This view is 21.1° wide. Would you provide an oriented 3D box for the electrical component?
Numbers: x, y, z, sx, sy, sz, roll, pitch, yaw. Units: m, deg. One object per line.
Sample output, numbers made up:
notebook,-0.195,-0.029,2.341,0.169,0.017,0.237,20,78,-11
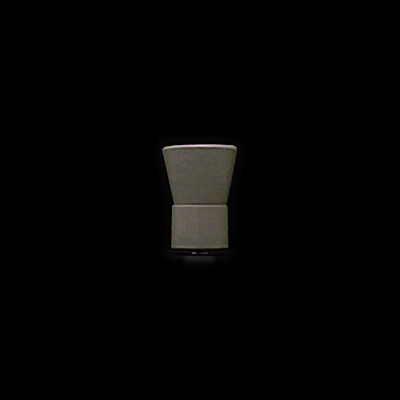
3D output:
electrical component,0.000,0.000,0.649,0.044,0.065,0.044,0,1,0
